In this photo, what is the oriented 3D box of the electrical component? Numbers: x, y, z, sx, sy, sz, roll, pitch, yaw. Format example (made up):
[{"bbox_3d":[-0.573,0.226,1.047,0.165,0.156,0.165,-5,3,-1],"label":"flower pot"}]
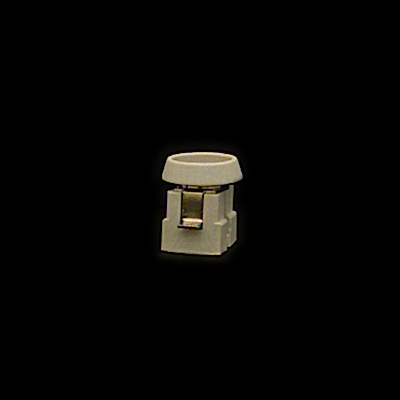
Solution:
[{"bbox_3d":[0.000,0.000,0.650,0.048,0.056,0.066,2,11,13],"label":"electrical component"}]
